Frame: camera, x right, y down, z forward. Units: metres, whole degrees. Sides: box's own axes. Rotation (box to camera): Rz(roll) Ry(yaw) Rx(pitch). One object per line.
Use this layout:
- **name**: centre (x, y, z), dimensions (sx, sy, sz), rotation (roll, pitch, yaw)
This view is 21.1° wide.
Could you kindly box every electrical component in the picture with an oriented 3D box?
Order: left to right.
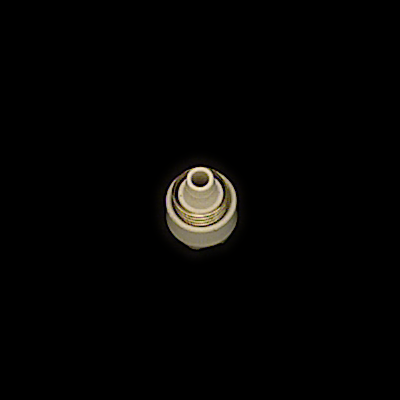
- **electrical component**: centre (0.000, 0.000, 0.633), dimensions (0.043, 0.043, 0.062), rotation (0, -25, 1)
